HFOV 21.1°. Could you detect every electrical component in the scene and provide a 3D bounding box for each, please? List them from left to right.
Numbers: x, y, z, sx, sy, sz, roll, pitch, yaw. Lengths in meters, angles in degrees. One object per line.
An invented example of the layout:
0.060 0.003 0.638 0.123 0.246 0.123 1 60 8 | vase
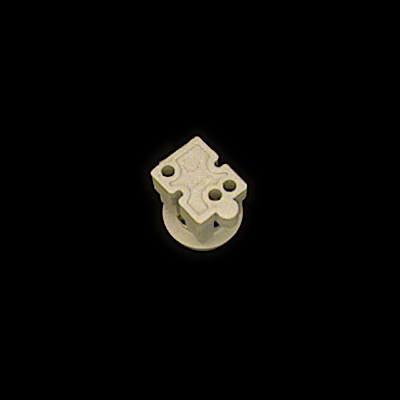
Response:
0.000 0.000 0.637 0.048 0.066 0.055 -38 -22 -16 | electrical component
